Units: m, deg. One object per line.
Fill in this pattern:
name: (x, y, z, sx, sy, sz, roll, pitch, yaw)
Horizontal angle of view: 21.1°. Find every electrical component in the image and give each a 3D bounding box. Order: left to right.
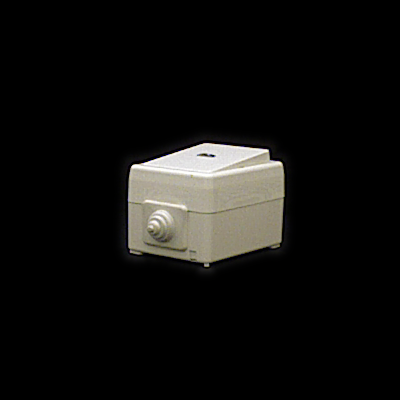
electrical component: (0.000, 0.000, 0.643, 0.061, 0.061, 0.096, 9, 13, 36)
